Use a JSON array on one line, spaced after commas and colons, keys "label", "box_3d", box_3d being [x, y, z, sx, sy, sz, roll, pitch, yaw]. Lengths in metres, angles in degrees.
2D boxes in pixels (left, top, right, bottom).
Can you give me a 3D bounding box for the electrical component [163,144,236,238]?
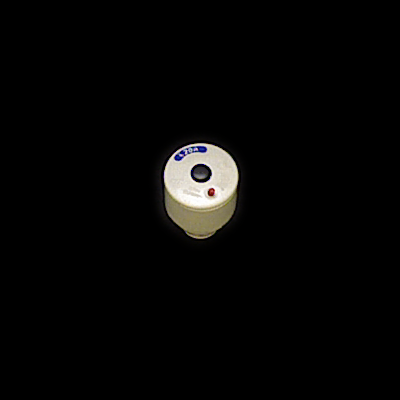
[{"label": "electrical component", "box_3d": [0.000, 0.000, 0.616, 0.040, 0.040, 0.078, 0, -27, 0]}]
